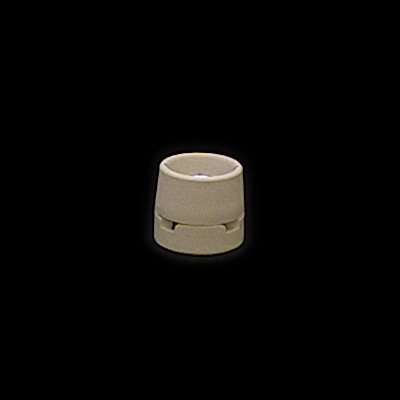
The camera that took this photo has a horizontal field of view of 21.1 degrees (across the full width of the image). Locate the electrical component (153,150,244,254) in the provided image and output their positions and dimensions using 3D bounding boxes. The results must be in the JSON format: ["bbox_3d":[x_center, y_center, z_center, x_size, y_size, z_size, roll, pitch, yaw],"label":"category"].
[{"bbox_3d":[0.000,0.000,0.641,0.055,0.047,0.055,2,21,-1],"label":"electrical component"}]
